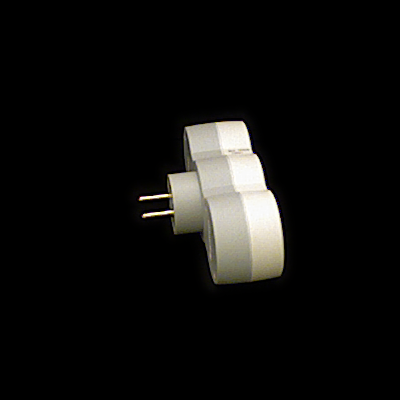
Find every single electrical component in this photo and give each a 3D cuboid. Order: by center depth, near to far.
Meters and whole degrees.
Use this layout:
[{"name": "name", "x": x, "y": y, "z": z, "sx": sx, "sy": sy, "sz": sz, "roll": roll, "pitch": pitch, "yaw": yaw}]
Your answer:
[{"name": "electrical component", "x": 0.000, "y": 0.000, "z": 0.644, "sx": 0.074, "sy": 0.053, "sz": 0.136, "roll": -5, "pitch": 33, "yaw": -7}]
